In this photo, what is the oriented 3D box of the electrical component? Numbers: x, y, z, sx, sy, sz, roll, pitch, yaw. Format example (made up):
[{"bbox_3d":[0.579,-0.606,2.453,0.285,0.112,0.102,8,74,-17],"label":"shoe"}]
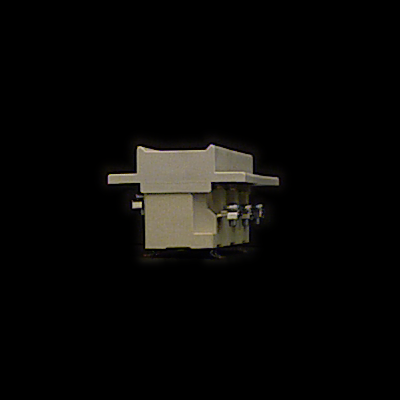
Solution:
[{"bbox_3d":[0.000,0.000,0.661,0.078,0.063,0.121,0,0,13],"label":"electrical component"}]
